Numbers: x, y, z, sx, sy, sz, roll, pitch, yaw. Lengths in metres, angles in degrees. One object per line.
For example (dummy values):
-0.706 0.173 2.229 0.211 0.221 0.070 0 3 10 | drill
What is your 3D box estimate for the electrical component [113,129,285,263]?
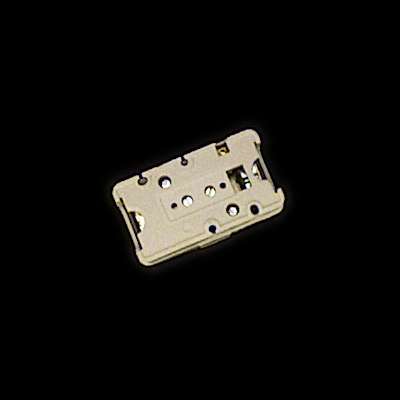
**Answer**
0.000 0.000 0.637 0.090 0.050 0.055 -23 -6 -3 | electrical component
